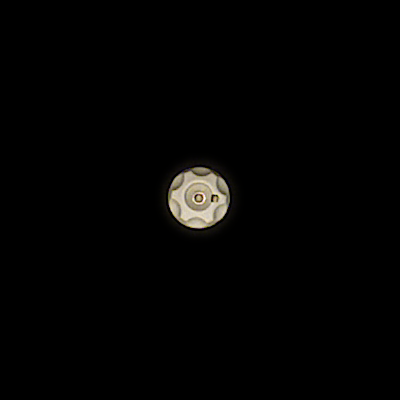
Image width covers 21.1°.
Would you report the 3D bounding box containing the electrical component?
[{"bbox_3d":[0.000,0.000,0.634,0.035,0.035,0.061,0,-5,1],"label":"electrical component"}]
